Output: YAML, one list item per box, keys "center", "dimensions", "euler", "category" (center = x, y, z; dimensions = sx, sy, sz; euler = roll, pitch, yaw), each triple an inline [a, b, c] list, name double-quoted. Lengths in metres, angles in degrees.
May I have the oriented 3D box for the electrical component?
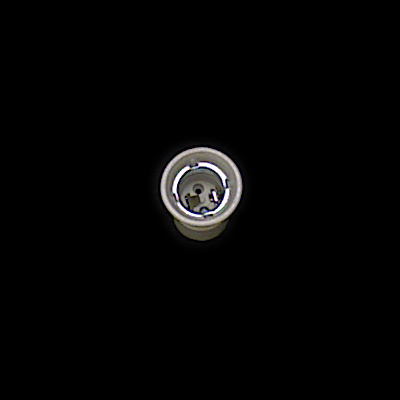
- center: [0.000, 0.000, 0.623]
  dimensions: [0.044, 0.044, 0.065]
  euler: [0, -16, 0]
  category: "electrical component"
